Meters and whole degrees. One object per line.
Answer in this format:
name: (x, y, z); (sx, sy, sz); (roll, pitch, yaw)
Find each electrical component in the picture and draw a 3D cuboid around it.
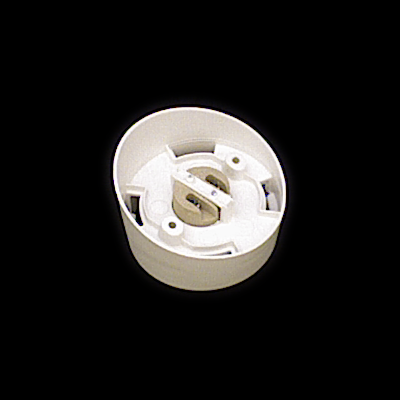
electrical component: (0.000, 0.000, 0.626); (0.099, 0.098, 0.064); (0, -38, 1)
